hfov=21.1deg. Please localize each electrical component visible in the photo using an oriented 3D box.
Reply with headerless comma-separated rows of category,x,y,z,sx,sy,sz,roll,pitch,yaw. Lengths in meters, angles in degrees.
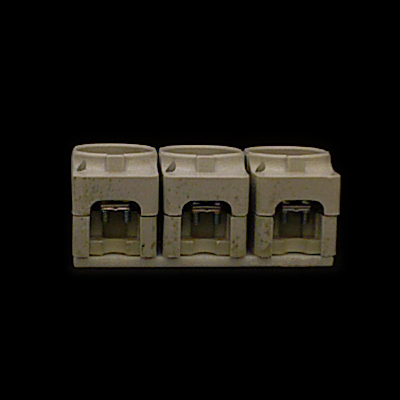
electrical component,0.000,0.000,0.649,0.150,0.062,0.088,0,11,-5
